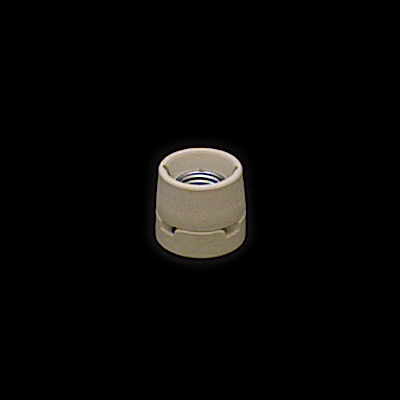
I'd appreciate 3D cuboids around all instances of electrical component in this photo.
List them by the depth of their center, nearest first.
[{"bbox_3d":[0.000,0.000,0.638,0.055,0.047,0.055,0,31,0],"label":"electrical component"}]
